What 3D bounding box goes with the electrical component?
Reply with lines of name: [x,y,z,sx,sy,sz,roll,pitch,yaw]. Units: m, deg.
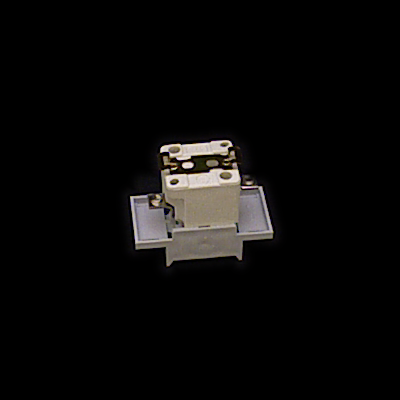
electrical component: [0.000,0.000,0.629,0.081,0.064,0.042,-5,42,-6]
